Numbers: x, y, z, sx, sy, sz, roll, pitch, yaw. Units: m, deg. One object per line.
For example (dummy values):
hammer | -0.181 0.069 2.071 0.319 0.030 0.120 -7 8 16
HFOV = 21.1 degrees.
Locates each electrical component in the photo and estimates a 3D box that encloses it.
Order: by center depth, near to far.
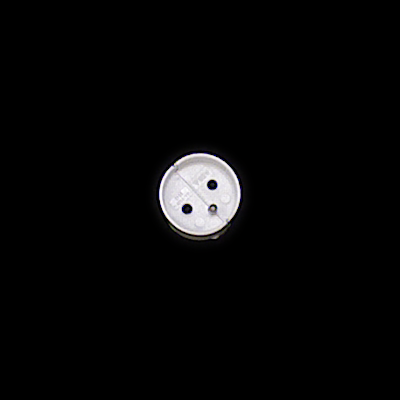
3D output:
electrical component | 0.000 0.000 0.616 0.043 0.043 0.080 0 -5 0
